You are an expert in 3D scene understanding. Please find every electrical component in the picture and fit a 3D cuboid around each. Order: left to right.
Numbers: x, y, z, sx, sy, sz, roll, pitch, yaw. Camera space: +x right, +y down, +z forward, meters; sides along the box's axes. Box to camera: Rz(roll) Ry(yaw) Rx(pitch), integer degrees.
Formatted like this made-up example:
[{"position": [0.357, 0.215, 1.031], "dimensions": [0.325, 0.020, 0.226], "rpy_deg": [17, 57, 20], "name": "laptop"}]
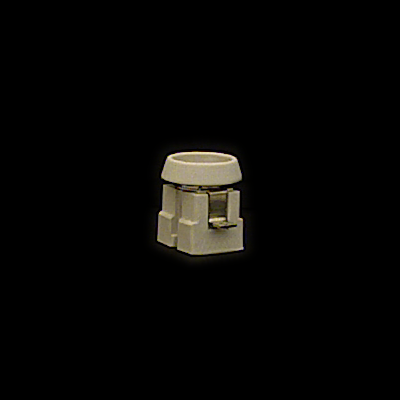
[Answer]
[{"position": [0.000, 0.000, 0.651], "dimensions": [0.049, 0.056, 0.065], "rpy_deg": [-8, 15, -31], "name": "electrical component"}]
